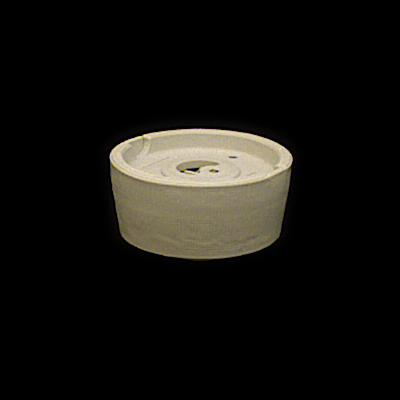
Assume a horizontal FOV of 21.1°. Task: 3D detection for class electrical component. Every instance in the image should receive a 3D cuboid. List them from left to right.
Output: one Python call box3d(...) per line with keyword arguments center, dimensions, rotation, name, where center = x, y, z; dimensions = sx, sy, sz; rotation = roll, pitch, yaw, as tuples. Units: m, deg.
box3d(center=(0.000, 0.000, 0.646), dimensions=(0.108, 0.061, 0.106), rotation=(1, 21, 0), name="electrical component")
